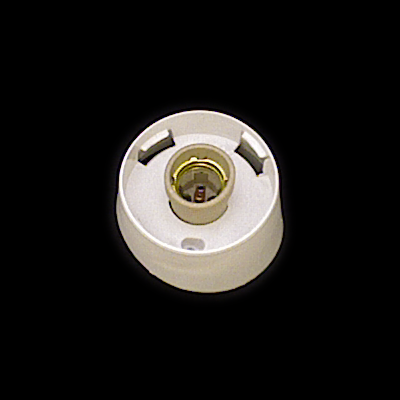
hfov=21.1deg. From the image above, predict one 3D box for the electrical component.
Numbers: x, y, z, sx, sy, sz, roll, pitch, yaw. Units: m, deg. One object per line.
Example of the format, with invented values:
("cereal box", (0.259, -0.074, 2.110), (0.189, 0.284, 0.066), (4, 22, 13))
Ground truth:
("electrical component", (0.000, 0.000, 0.625), (0.099, 0.099, 0.064), (0, -27, -1))
